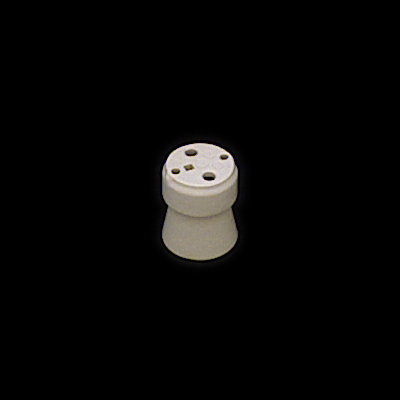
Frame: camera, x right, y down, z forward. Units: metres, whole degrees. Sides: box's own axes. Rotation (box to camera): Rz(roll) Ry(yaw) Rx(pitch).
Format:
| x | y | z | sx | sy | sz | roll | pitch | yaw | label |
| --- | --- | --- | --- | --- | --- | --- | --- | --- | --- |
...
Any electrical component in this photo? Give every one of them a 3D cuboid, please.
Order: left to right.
| x | y | z | sx | sy | sz | roll | pitch | yaw | label |
| --- | --- | --- | --- | --- | --- | --- | --- | --- | --- |
| 0.000 | 0.000 | 0.633 | 0.045 | 0.055 | 0.044 | 1 | 42 | 0 | electrical component |
